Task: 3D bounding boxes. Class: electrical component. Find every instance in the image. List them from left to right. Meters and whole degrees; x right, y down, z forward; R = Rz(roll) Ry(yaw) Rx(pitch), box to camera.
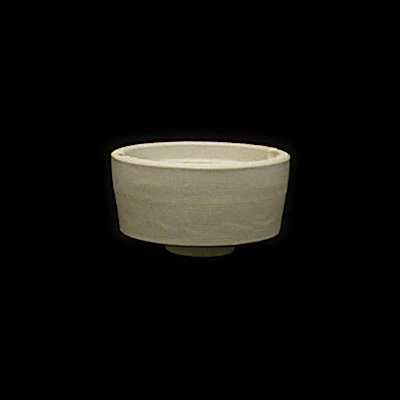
[{"bbox_3d":[0.000,0.000,0.654,0.108,0.061,0.107,1,11,0],"label":"electrical component"}]
